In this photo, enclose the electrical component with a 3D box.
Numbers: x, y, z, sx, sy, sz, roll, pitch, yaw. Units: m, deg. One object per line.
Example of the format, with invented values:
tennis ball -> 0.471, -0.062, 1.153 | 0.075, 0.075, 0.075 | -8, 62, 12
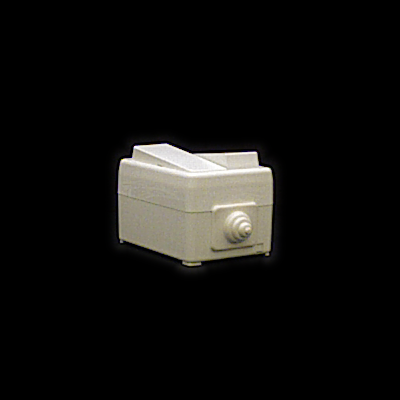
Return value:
electrical component -> 0.000, 0.000, 0.642 | 0.061, 0.061, 0.095 | -6, 12, -35
